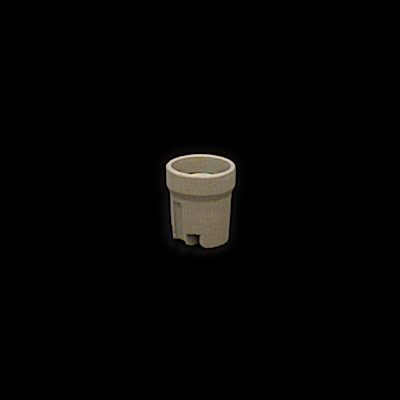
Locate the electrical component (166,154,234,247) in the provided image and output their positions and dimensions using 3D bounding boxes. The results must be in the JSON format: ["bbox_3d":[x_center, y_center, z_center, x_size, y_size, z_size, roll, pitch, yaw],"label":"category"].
[{"bbox_3d":[0.000,0.000,0.638,0.040,0.047,0.039,1,21,0],"label":"electrical component"}]
